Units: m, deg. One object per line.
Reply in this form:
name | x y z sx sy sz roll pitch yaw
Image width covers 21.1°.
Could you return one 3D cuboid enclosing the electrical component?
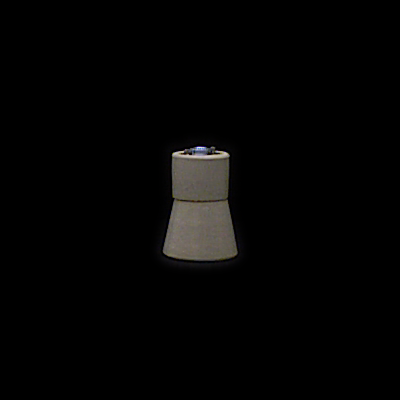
electrical component | 0.000 0.000 0.646 0.044 0.066 0.044 0 10 0
